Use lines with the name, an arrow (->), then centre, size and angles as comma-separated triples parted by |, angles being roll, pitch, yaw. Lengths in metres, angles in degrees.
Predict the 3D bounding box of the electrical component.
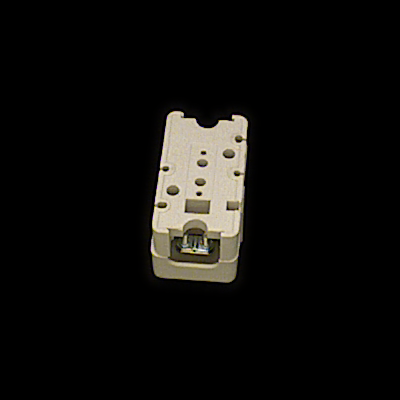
electrical component -> 0.000, 0.000, 0.637 | 0.050, 0.089, 0.056 | 4, -36, 3
